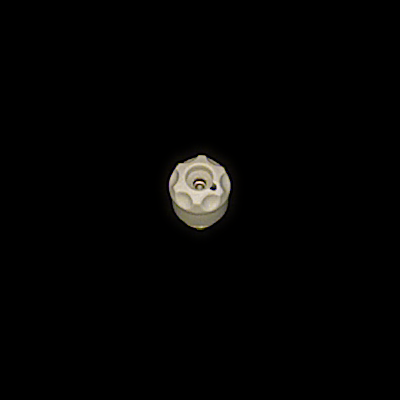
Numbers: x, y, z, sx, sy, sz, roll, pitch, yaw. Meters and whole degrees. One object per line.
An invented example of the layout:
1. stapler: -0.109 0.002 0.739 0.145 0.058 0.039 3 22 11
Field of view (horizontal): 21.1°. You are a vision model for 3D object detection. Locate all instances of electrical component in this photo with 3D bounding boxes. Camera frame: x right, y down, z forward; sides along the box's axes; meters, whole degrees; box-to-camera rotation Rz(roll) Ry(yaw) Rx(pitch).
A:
1. electrical component: 0.000 0.000 0.632 0.035 0.035 0.061 0 -26 0
